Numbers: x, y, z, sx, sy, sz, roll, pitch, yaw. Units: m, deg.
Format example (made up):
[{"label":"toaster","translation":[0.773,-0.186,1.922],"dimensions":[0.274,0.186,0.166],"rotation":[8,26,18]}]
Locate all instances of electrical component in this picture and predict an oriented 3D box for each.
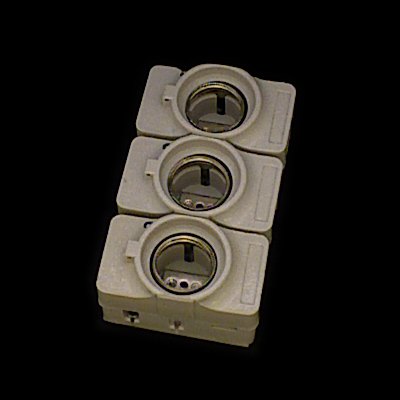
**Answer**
[{"label":"electrical component","translation":[0.000,0.000,0.631],"dimensions":[0.089,0.149,0.062],"rotation":[9,-27,5]}]
